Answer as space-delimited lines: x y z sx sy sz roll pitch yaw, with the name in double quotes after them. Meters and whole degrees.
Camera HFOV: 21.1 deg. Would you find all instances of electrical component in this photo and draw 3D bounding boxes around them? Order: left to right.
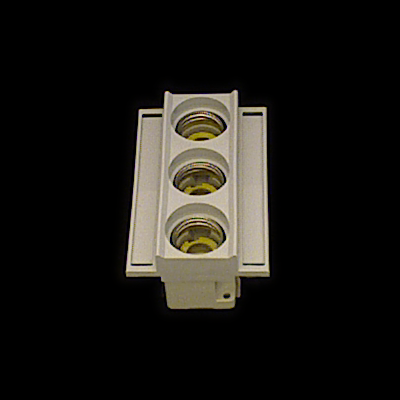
0.000 0.000 0.638 0.079 0.120 0.063 0 -37 2 "electrical component"
